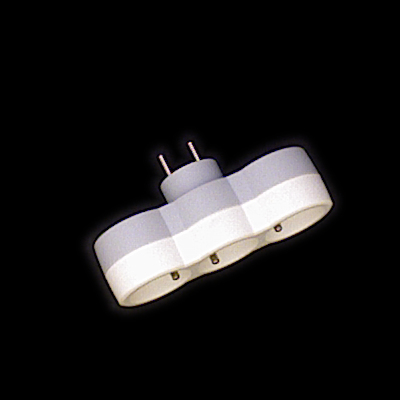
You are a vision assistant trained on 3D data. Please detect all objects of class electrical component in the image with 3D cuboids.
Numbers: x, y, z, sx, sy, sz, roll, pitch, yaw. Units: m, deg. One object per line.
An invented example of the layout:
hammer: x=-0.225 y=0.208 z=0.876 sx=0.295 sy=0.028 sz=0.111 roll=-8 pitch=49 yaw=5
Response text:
electrical component: x=0.000 y=0.000 z=0.630 sx=0.138 sy=0.074 sz=0.052 roll=-25 pitch=-17 yaw=-6
